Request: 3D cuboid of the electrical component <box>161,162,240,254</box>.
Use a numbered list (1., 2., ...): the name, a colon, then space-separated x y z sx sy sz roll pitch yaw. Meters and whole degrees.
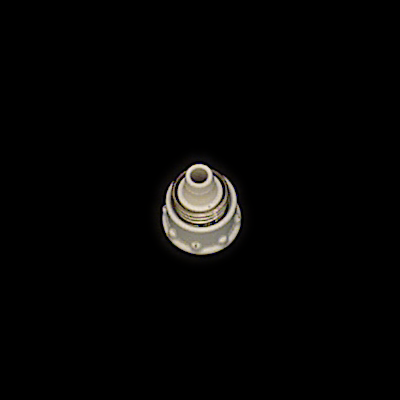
1. electrical component: 0.000 0.000 0.633 0.048 0.048 0.062 0 -28 1
